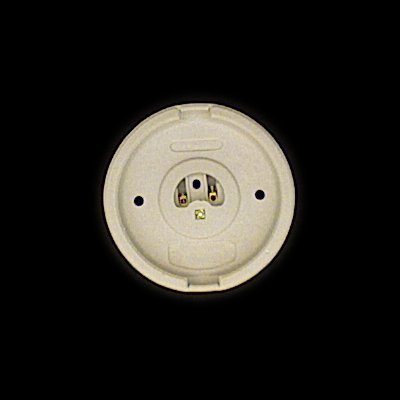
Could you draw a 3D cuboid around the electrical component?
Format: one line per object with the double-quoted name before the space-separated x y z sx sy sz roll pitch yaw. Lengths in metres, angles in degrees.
"electrical component" 0.000 0.000 0.634 0.108 0.108 0.060 0 -6 0
